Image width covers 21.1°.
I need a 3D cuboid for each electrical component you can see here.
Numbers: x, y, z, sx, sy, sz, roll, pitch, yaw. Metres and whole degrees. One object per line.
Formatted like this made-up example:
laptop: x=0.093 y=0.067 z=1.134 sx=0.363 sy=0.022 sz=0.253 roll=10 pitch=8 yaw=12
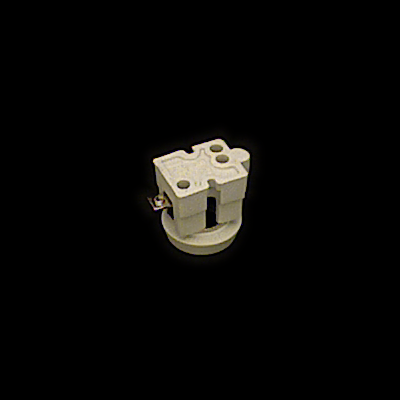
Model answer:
electrical component: x=0.000 y=0.000 z=0.641 sx=0.067 sy=0.056 sz=0.048 roll=-18 pitch=47 yaw=-18
